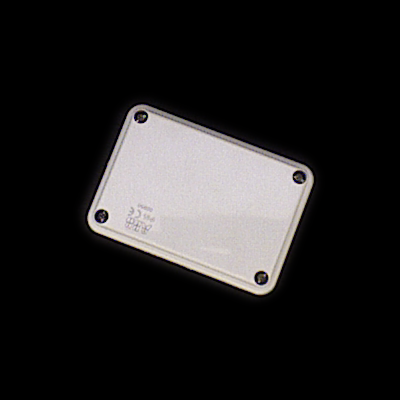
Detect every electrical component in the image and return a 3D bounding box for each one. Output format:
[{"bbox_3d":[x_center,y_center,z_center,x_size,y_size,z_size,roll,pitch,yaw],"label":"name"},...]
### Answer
[{"bbox_3d":[0.000,0.000,0.628,0.113,0.078,0.057,21,-6,2],"label":"electrical component"}]
